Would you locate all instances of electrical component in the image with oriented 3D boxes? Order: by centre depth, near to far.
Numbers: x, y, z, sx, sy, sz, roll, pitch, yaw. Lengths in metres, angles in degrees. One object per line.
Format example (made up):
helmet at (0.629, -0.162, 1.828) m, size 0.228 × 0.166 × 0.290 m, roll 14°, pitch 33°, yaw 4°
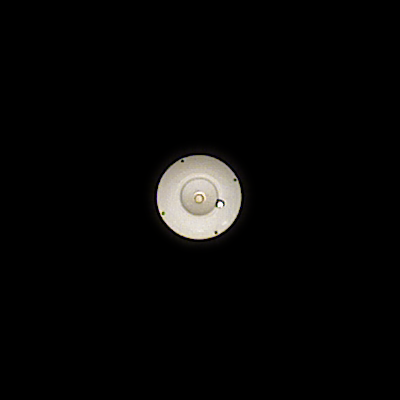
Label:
electrical component at (0.000, 0.000, 0.635) m, size 0.048 × 0.048 × 0.062 m, roll 0°, pitch -6°, yaw 1°
